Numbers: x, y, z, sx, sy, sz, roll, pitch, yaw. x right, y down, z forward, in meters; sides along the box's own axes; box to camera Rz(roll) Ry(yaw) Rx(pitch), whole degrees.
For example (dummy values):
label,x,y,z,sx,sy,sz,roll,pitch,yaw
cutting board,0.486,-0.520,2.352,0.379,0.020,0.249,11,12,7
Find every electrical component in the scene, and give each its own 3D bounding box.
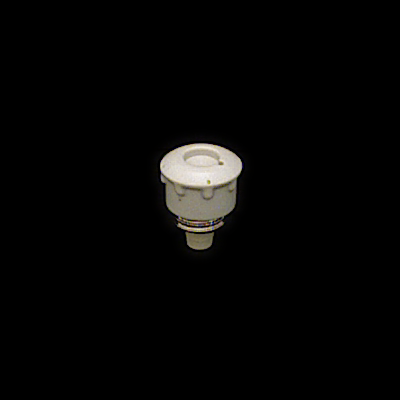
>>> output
label,x,y,z,sx,sy,sz,roll,pitch,yaw
electrical component,0.000,0.000,0.643,0.048,0.063,0.047,1,32,0
